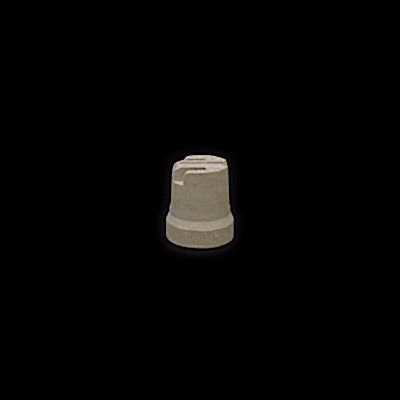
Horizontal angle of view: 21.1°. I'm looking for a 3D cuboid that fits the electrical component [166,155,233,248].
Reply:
[{"bbox_3d":[0.000,0.000,0.642,0.040,0.046,0.040,1,21,0],"label":"electrical component"}]
